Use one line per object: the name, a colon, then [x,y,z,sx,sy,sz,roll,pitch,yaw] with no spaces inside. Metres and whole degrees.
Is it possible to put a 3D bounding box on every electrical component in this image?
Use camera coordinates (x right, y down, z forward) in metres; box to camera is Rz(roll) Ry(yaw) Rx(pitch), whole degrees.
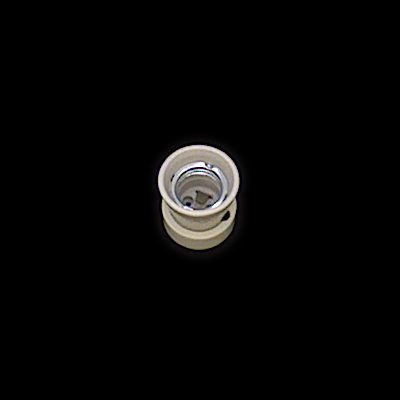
electrical component: [0.000,0.000,0.627,0.045,0.045,0.055,0,-27,0]
